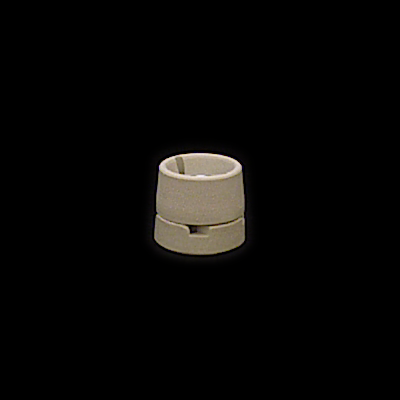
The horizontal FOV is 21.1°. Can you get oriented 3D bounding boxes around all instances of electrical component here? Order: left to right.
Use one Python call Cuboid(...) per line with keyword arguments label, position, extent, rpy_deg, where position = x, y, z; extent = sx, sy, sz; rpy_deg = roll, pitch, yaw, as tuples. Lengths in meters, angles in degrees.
Cuboid(label="electrical component", position=(0.000, 0.000, 0.642), extent=(0.055, 0.047, 0.055), rpy_deg=(1, 20, 0))
